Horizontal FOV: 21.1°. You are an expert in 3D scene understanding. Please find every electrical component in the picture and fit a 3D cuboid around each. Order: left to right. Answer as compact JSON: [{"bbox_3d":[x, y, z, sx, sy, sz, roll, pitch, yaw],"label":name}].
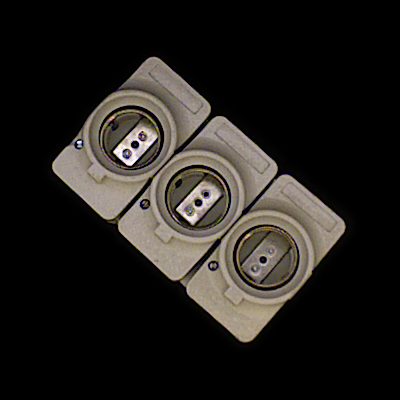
[{"bbox_3d":[0.000,0.000,0.632,0.150,0.089,0.061,41,-4,4],"label":"electrical component"}]
